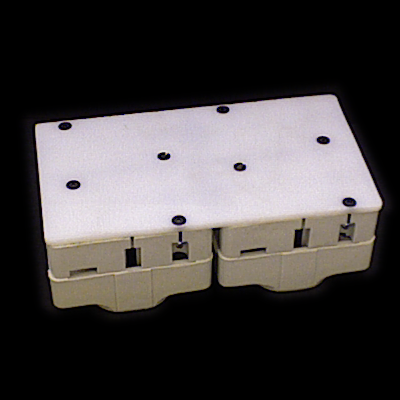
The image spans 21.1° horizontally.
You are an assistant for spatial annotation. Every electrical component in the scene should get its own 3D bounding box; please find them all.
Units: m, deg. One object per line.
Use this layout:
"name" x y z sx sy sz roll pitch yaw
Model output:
"electrical component" 0.000 0.000 0.630 0.186 0.061 0.104 -6 42 -8
